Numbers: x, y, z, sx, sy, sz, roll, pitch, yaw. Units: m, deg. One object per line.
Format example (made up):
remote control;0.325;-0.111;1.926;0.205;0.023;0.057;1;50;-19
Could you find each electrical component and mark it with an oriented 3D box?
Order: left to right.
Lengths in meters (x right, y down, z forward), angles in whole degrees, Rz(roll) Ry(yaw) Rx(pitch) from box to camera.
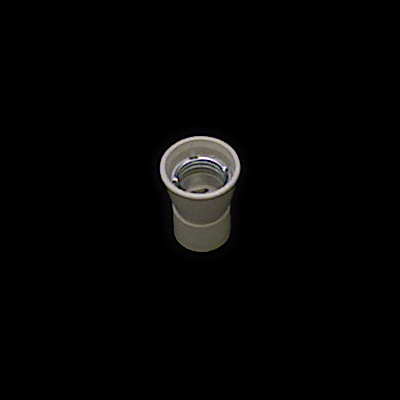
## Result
electrical component;0.000;0.000;0.625;0.044;0.044;0.065;0;-37;1
